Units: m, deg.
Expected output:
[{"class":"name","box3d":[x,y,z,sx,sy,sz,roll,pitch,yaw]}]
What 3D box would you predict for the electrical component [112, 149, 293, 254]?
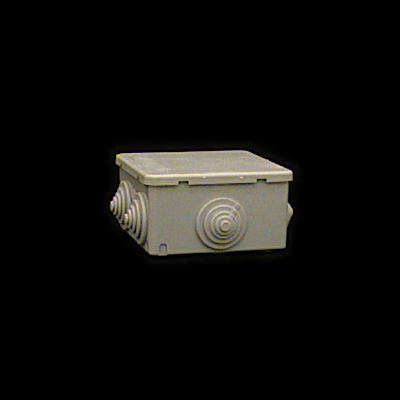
[{"class":"electrical component","box3d":[0.000,0.000,0.652,0.100,0.049,0.098,-2,12,-17]}]
